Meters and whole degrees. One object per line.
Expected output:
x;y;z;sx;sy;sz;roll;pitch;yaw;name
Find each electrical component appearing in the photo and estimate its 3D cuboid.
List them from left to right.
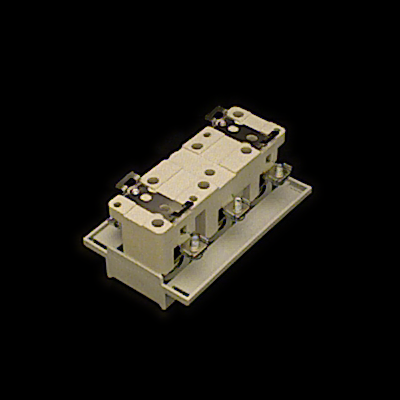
0.000;0.000;0.638;0.078;0.063;0.121;28;49;27;electrical component
